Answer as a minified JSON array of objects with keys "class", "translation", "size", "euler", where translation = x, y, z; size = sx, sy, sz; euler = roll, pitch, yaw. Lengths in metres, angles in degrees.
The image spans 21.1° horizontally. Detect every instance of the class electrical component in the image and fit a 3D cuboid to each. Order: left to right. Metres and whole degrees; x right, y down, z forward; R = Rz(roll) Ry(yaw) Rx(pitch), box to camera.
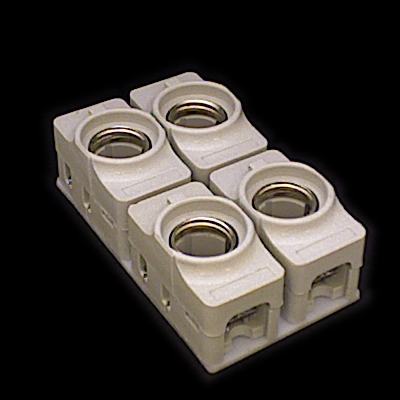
[{"class":"electrical component","translation":[0.000,0.000,0.629],"size":[0.105,0.061,0.184],"euler":[-23,47,-24]}]
